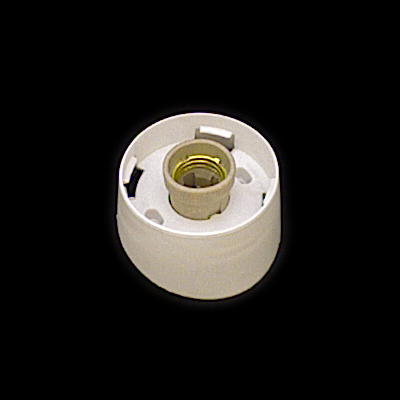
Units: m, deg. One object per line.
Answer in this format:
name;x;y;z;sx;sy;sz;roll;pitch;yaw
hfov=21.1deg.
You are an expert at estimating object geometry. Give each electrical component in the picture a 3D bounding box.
electrical component;0.000;0.000;0.627;0.099;0.098;0.064;0;-37;-1
